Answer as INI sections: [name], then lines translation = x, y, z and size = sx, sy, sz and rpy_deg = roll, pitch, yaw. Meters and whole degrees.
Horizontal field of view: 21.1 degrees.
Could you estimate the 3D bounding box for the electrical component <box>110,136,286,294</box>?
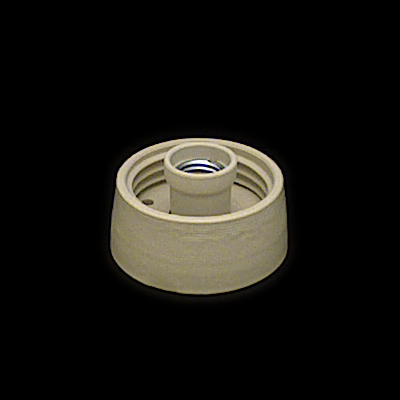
[electrical component]
translation = 0.000, 0.000, 0.639
size = 0.108, 0.061, 0.106
rpy_deg = 1, 32, 0
